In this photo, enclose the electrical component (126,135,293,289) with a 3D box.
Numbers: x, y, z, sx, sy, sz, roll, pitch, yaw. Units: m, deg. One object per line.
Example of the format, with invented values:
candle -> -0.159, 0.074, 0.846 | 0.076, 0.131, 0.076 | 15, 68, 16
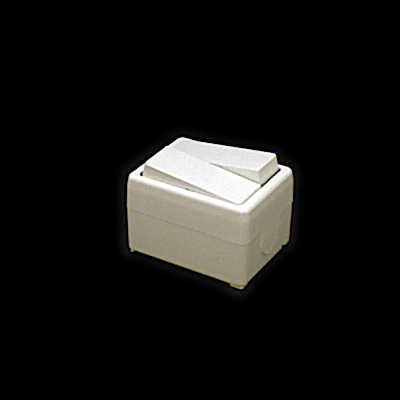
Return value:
electrical component -> 0.000, 0.000, 0.635 | 0.095, 0.061, 0.061 | 18, 35, 25
